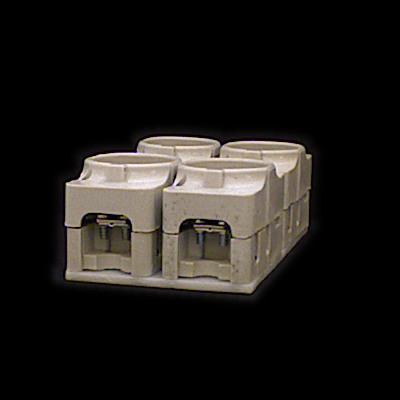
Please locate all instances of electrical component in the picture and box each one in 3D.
[{"bbox_3d":[0.000,0.000,0.643,0.105,0.061,0.185,4,10,15],"label":"electrical component"}]
